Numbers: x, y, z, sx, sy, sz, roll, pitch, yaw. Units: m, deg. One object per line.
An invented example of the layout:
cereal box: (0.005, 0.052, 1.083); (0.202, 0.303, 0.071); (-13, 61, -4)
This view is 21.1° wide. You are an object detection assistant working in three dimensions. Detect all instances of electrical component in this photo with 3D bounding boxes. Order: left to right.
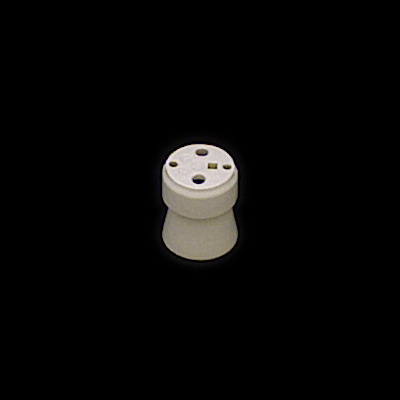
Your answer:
electrical component: (0.000, 0.000, 0.631); (0.045, 0.055, 0.044); (0, 42, 0)
